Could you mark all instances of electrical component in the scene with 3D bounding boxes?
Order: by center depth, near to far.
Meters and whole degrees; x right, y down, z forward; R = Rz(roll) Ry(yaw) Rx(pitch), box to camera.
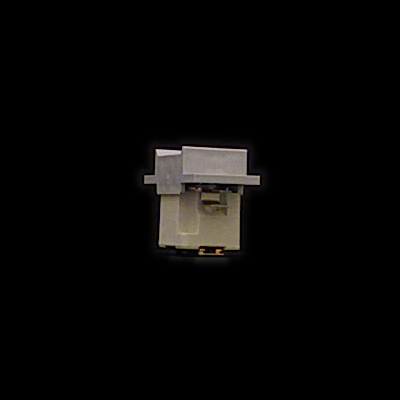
[{"bbox_3d":[0.000,0.000,0.652,0.042,0.064,0.080,0,1,-23],"label":"electrical component"}]
